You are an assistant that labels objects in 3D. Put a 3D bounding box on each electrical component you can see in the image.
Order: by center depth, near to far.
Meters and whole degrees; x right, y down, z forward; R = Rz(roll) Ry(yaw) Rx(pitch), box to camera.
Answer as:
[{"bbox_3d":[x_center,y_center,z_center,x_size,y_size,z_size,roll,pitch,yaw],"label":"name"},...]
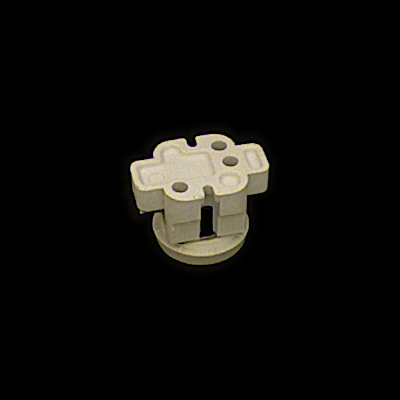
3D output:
[{"bbox_3d":[0.000,0.000,0.638,0.079,0.057,0.057,-11,44,-10],"label":"electrical component"}]
